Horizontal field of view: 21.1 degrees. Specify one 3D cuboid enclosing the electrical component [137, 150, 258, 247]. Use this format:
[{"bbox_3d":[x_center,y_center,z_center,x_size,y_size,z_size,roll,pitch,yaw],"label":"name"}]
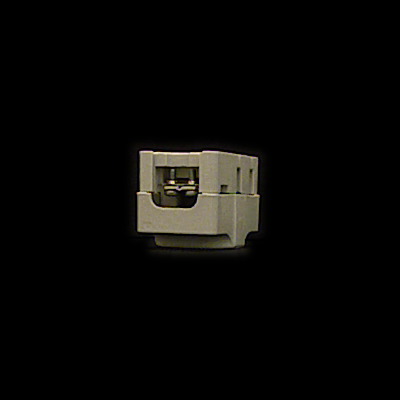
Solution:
[{"bbox_3d":[0.000,0.000,0.656,0.050,0.056,0.090,1,0,19],"label":"electrical component"}]
